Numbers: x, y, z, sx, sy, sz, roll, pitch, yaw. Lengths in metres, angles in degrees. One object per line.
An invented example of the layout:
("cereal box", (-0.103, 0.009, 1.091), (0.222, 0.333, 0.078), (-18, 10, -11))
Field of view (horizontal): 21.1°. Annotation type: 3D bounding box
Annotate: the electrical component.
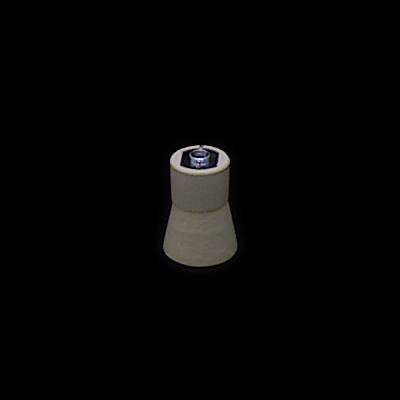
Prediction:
("electrical component", (0.000, 0.000, 0.634), (0.044, 0.066, 0.044), (0, 32, 0))
